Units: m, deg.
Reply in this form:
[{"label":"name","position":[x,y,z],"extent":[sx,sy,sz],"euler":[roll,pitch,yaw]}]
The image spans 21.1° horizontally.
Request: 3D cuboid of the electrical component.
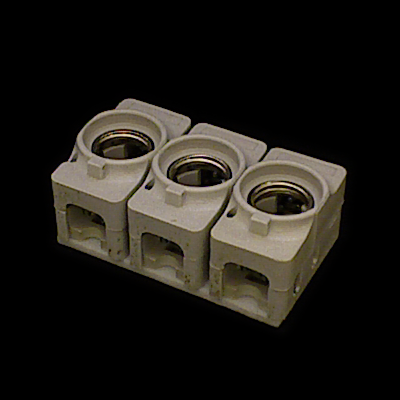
[{"label":"electrical component","position":[0.000,0.000,0.635],"extent":[0.149,0.063,0.088],"euler":[19,45,20]}]
